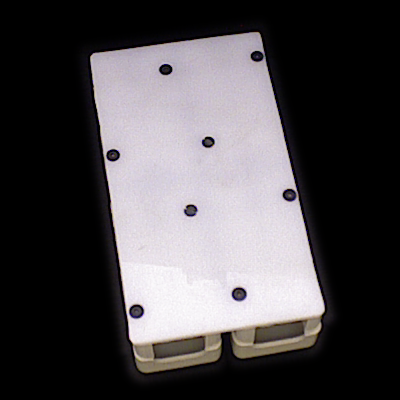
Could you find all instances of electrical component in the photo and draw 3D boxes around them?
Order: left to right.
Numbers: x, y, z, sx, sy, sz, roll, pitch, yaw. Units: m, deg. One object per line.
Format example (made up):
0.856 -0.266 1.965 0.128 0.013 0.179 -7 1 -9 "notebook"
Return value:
0.000 0.000 0.625 0.105 0.186 0.060 -9 -26 -4 "electrical component"
